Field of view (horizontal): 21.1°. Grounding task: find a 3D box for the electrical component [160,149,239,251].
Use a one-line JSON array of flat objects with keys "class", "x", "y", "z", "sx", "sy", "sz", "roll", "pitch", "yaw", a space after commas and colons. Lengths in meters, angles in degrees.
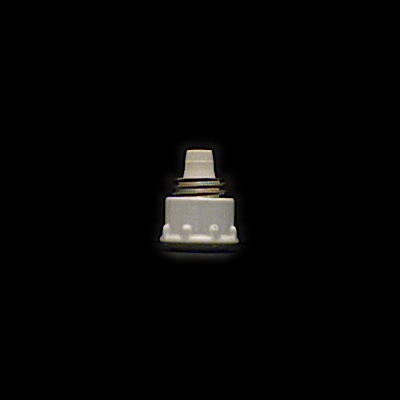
[{"class": "electrical component", "x": 0.000, "y": 0.000, "z": 0.655, "sx": 0.048, "sy": 0.062, "sz": 0.048, "roll": 0, "pitch": 1, "yaw": 1}]
